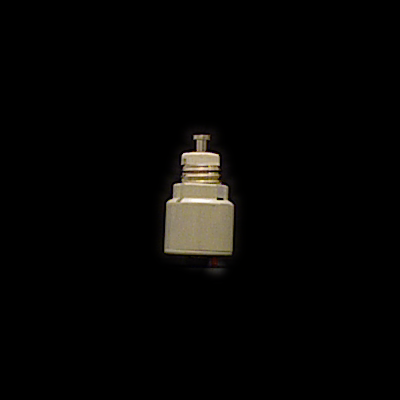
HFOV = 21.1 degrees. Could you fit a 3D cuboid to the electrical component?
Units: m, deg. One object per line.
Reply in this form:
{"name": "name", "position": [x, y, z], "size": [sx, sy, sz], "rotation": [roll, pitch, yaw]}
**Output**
{"name": "electrical component", "position": [0.000, 0.000, 0.648], "size": [0.040, 0.078, 0.040], "rotation": [2, 0, 0]}
